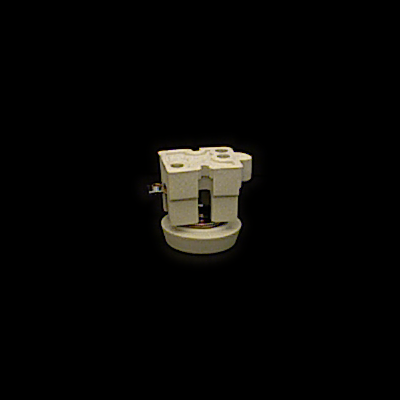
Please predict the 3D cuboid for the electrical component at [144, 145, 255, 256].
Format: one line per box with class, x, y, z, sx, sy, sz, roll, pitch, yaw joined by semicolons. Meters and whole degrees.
electrical component;0.000;0.000;0.648;0.067;0.056;0.047;-4;24;-10
